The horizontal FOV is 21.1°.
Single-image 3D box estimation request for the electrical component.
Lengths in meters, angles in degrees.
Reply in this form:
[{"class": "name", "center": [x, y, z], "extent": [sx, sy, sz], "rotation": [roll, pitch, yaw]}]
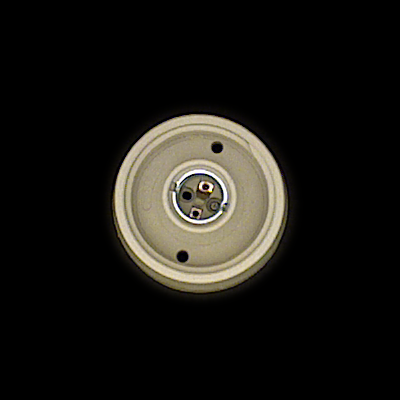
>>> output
[{"class": "electrical component", "center": [0.000, 0.000, 0.635], "extent": [0.108, 0.108, 0.060], "rotation": [0, -6, 0]}]
